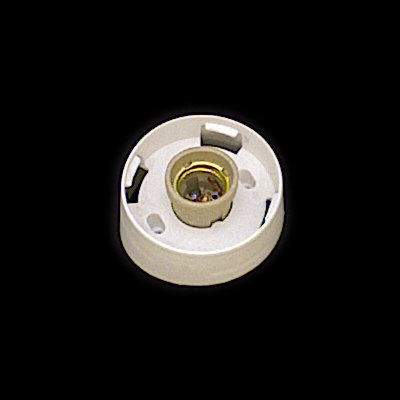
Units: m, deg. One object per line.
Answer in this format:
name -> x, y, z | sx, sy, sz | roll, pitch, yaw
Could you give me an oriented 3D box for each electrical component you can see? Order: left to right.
electrical component -> 0.000, 0.000, 0.625 | 0.099, 0.099, 0.064 | 0, -28, 0
